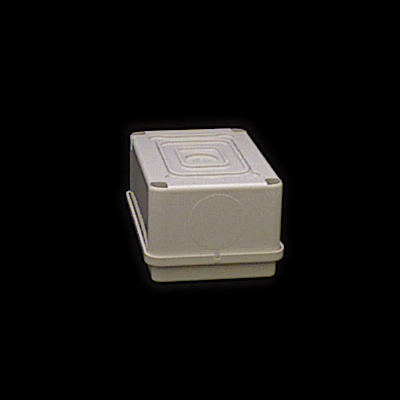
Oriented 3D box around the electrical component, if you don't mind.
[{"bbox_3d":[0.000,0.000,0.639,0.078,0.058,0.111,-2,22,-9],"label":"electrical component"}]
